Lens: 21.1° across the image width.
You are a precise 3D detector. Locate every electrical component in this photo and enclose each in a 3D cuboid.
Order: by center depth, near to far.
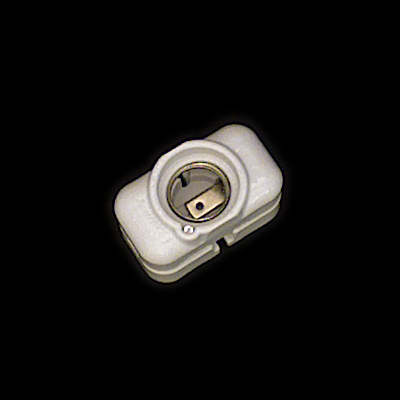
[{"bbox_3d":[0.000,0.000,0.633,0.095,0.054,0.059,-32,-14,-8],"label":"electrical component"}]
